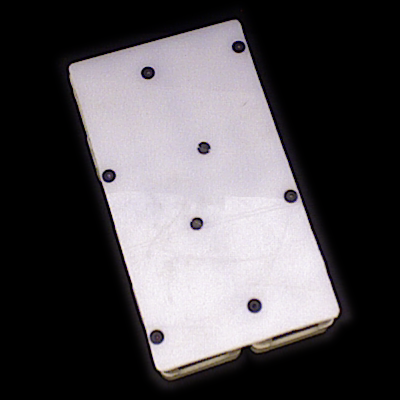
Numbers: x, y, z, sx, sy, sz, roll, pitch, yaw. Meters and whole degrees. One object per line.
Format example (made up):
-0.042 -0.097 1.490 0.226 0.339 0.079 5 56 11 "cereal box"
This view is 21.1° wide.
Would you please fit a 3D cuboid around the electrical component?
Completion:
0.000 0.000 0.625 0.106 0.187 0.060 -16 -16 -5 "electrical component"
